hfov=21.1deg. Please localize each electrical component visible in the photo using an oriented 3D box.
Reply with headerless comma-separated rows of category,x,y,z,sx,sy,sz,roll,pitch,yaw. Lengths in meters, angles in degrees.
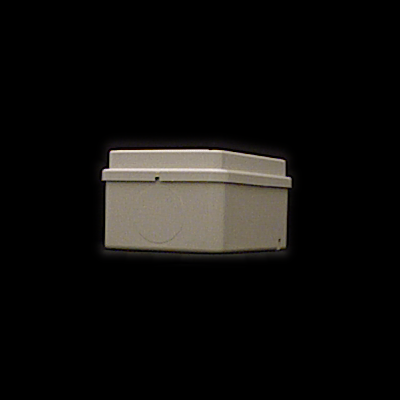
electrical component,0.000,0.000,0.649,0.078,0.057,0.113,1,0,25
